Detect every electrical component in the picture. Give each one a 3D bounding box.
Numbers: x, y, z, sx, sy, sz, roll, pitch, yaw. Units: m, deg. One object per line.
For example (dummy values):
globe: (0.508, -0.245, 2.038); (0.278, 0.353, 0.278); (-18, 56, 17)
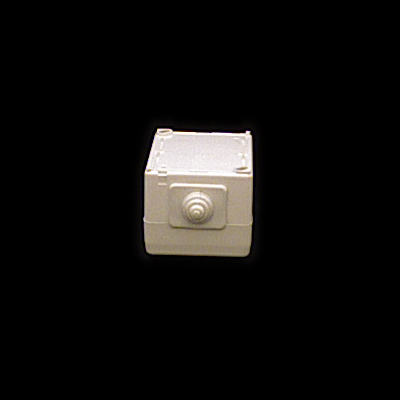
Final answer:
electrical component: (0.000, 0.000, 0.638); (0.062, 0.061, 0.095); (2, 21, 1)
